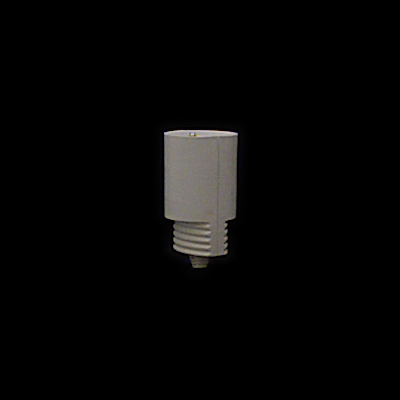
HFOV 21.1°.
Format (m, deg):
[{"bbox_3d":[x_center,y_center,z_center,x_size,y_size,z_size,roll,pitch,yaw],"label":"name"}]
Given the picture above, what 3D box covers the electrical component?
[{"bbox_3d":[0.000,0.000,0.642,0.043,0.081,0.043,1,10,0],"label":"electrical component"}]
